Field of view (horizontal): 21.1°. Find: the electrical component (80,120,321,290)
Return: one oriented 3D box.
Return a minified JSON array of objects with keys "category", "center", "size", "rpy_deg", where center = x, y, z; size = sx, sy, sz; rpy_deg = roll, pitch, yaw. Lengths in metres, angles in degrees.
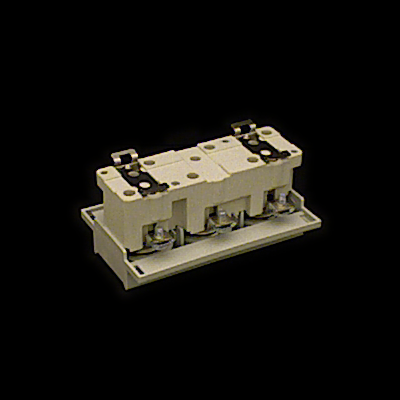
[{"category":"electrical component","center":[0.000,0.000,0.639],"size":[0.122,0.064,0.077],"rpy_deg":[-16,36,-25]}]
